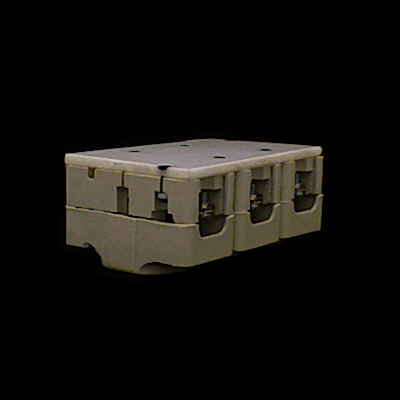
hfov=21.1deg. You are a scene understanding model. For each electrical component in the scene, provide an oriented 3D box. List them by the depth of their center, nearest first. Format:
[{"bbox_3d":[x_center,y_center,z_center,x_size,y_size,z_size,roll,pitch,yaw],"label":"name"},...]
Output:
[{"bbox_3d":[0.000,0.000,0.654,0.089,0.062,0.149,9,12,34],"label":"electrical component"}]
